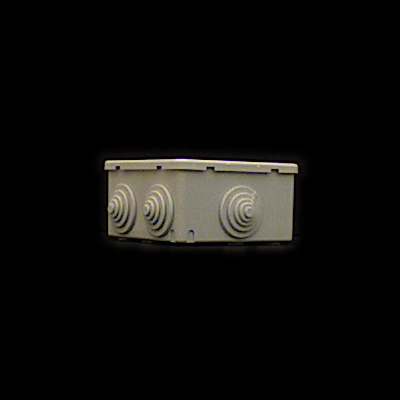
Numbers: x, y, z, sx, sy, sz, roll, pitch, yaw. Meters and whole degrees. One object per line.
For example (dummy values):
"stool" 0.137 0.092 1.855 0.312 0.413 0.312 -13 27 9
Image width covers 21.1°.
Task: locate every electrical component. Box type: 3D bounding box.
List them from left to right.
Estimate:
"electrical component" 0.000 0.000 0.656 0.101 0.048 0.098 0 1 -35
